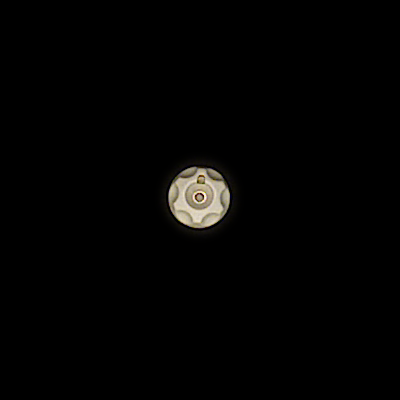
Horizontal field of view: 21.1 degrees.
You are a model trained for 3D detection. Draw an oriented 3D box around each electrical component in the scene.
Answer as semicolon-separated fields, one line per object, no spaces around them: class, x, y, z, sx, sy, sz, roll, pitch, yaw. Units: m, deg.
electrical component;0.000;0.000;0.635;0.035;0.035;0.061;0;-6;0
